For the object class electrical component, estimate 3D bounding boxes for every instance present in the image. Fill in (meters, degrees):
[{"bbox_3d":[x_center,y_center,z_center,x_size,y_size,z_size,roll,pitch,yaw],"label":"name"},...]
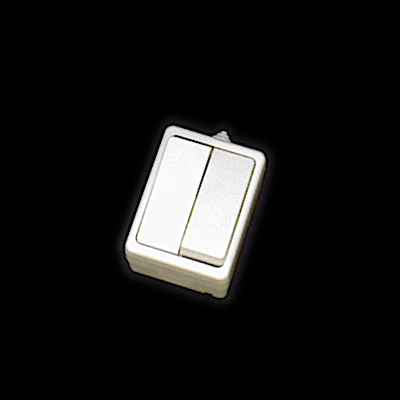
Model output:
[{"bbox_3d":[0.000,0.000,0.627,0.062,0.096,0.060,17,-16,5],"label":"electrical component"}]
